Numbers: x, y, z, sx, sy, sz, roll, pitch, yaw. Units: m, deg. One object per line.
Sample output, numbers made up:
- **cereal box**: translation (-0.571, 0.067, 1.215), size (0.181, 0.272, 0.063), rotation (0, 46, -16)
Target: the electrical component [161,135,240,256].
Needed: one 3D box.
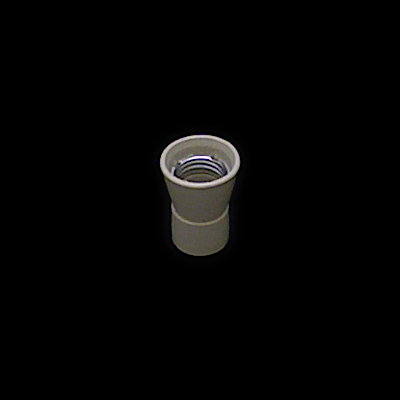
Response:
- **electrical component**: translation (0.000, 0.000, 0.628), size (0.044, 0.066, 0.044), rotation (0, 43, 0)
